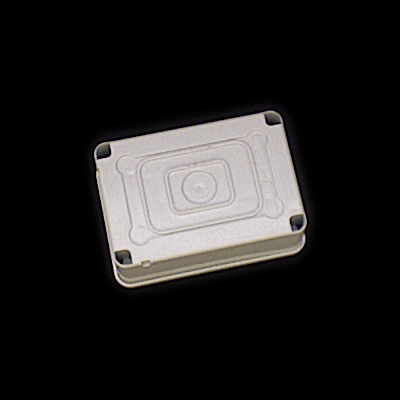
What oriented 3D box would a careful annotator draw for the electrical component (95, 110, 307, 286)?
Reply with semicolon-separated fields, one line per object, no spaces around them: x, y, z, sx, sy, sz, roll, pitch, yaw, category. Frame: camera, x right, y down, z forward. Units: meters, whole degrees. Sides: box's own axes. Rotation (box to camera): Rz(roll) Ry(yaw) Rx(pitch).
0.000;0.000;0.628;0.113;0.078;0.057;-11;-17;-4;electrical component
